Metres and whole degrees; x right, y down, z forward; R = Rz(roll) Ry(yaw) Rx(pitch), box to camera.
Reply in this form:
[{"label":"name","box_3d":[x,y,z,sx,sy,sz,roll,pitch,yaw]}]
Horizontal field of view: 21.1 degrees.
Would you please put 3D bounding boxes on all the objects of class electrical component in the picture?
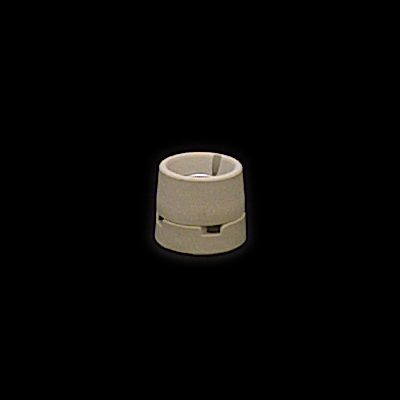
[{"label":"electrical component","box_3d":[0.000,0.000,0.640,0.055,0.047,0.055,0,22,0]}]
